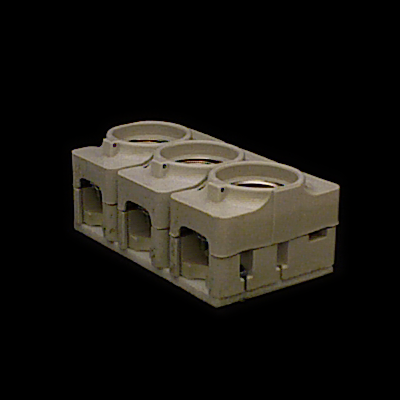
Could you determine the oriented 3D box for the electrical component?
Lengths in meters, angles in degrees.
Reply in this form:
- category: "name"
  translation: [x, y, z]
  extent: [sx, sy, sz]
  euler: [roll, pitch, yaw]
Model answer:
- category: "electrical component"
  translation: [0.000, 0.000, 0.644]
  extent: [0.089, 0.063, 0.148]
  euler: [-15, 25, -36]
